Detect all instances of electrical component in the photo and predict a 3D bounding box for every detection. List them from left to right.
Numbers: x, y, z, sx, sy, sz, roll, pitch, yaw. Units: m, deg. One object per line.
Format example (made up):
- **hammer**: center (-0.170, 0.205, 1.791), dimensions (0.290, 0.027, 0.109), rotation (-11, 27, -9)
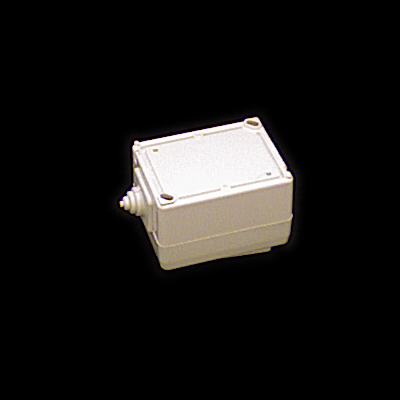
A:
- **electrical component**: center (0.000, 0.000, 0.633), dimensions (0.096, 0.061, 0.061), rotation (-12, 44, -13)
